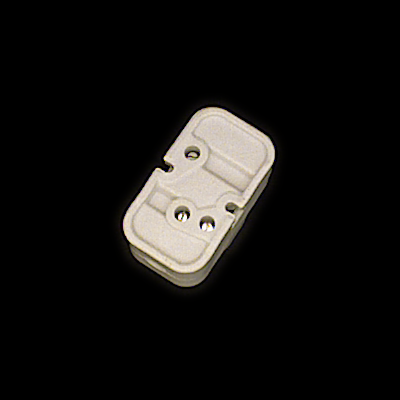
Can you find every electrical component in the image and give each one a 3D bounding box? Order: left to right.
[{"bbox_3d":[0.000,0.000,0.635,0.053,0.095,0.059,32,-14,9],"label":"electrical component"}]
